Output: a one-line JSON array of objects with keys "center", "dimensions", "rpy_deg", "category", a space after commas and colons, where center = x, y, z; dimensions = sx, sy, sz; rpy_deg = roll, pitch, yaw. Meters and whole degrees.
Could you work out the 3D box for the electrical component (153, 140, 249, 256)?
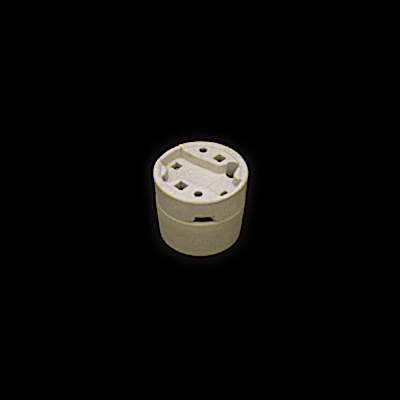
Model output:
[{"center": [0.000, 0.000, 0.636], "dimensions": [0.055, 0.047, 0.055], "rpy_deg": [1, 42, -1], "category": "electrical component"}]
